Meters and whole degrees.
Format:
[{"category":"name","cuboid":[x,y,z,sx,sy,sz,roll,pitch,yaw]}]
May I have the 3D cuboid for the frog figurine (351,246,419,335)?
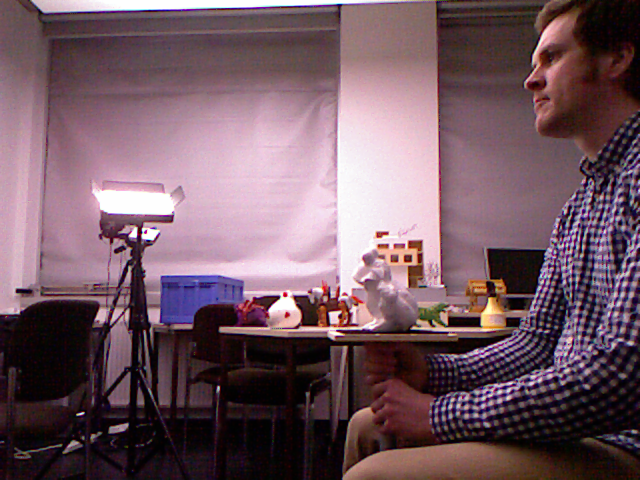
[{"category":"frog figurine","cuboid":[0.119,0.091,0.942,0.123,0.160,0.137,-1,-3,12]}]
